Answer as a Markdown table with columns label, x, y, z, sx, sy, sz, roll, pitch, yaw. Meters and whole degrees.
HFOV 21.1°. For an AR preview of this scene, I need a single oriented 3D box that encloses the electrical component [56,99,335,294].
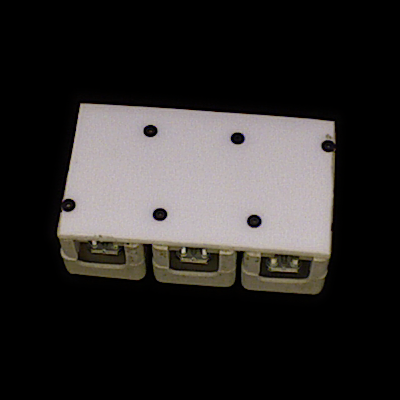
| label | x | y | z | sx | sy | sz | roll | pitch | yaw |
| --- | --- | --- | --- | --- | --- | --- | --- | --- | --- |
| electrical component | 0.000 | 0.000 | 0.630 | 0.150 | 0.089 | 0.062 | 5 | -27 | 3 |
